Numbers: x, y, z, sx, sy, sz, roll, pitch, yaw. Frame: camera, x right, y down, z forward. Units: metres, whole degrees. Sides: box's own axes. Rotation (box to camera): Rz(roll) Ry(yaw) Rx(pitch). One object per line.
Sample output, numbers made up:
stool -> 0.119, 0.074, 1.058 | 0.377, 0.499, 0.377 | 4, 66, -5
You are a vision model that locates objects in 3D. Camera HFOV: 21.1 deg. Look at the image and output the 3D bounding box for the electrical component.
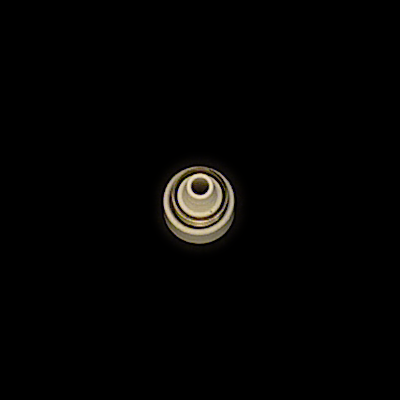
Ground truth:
electrical component -> 0.000, 0.000, 0.634 | 0.043, 0.043, 0.061 | 0, -16, -1
